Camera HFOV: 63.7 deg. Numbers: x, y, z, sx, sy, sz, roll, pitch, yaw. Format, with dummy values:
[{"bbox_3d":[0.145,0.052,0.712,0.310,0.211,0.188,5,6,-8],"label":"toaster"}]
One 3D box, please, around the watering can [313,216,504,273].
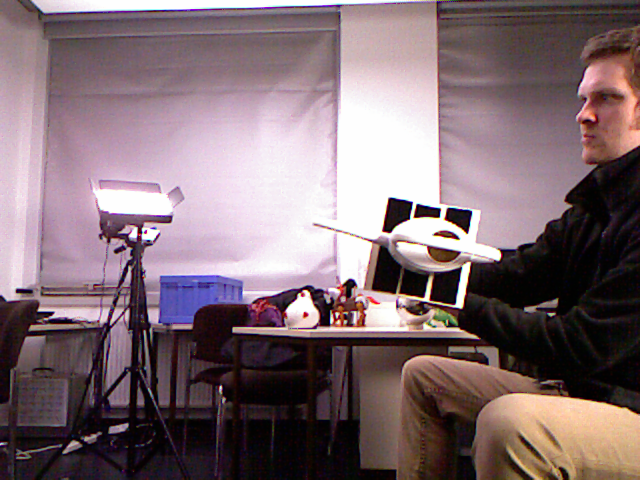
[{"bbox_3d":[0.163,0.002,0.983,0.349,0.105,0.224,12,-4,3],"label":"watering can"}]
